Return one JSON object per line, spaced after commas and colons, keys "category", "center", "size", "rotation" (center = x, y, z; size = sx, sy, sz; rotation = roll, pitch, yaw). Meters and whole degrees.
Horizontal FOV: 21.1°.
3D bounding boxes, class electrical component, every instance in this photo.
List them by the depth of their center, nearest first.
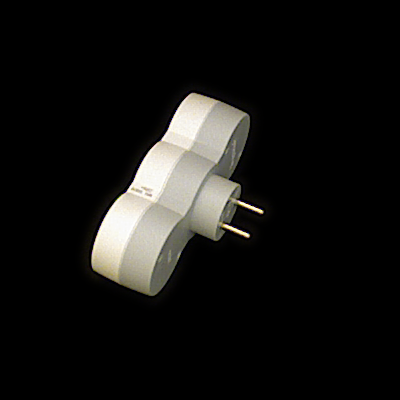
{"category": "electrical component", "center": [0.000, 0.000, 0.637], "size": [0.073, 0.138, 0.052], "rotation": [22, -34, 14]}
